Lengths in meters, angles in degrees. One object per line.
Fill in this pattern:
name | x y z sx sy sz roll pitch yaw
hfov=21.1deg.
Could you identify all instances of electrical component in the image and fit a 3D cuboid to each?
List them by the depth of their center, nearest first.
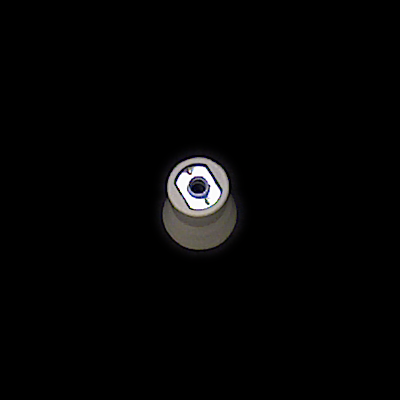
electrical component | 0.000 0.000 0.624 0.044 0.044 0.065 0 -16 1
